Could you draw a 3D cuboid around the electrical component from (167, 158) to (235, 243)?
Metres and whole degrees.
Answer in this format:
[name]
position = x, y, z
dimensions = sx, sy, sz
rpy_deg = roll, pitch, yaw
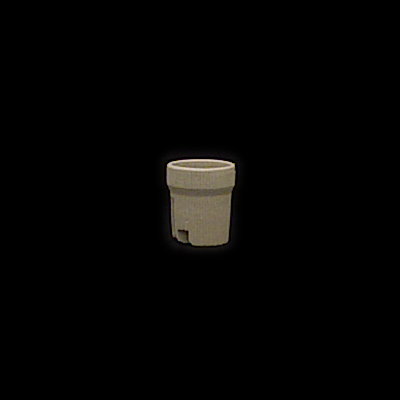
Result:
[electrical component]
position = 0.000, 0.000, 0.643
dimensions = 0.040, 0.046, 0.040
rpy_deg = 1, 11, 0
